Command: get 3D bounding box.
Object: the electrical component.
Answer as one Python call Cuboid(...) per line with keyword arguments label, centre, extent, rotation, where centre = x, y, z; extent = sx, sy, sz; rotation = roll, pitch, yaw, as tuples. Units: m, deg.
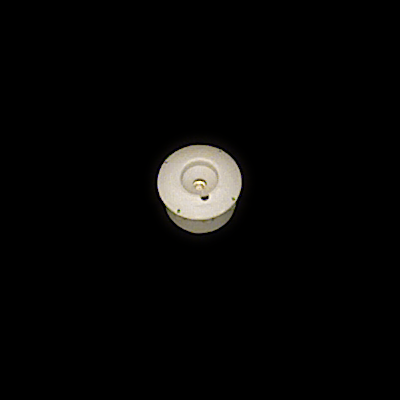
Cuboid(label="electrical component", centre=(0.000, 0.000, 0.634), extent=(0.048, 0.048, 0.062), rotation=(0, -26, 0))
